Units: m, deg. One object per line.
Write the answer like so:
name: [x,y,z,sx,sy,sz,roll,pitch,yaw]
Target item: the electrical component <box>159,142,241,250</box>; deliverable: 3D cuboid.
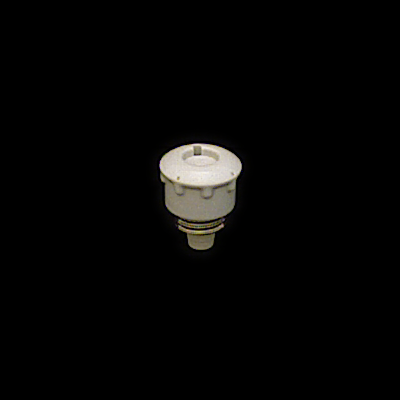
electrical component: [0.000,0.000,0.641,0.048,0.063,0.047,1,32,0]
